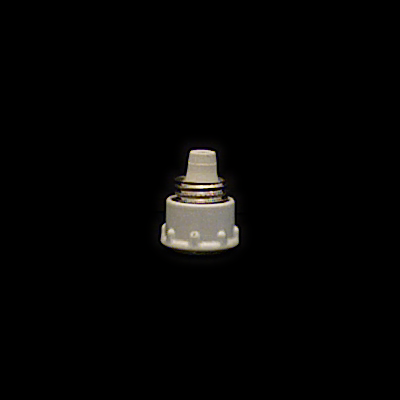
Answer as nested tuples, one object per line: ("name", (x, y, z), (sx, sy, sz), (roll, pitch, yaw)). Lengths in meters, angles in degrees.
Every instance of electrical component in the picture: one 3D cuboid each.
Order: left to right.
("electrical component", (0.000, 0.000, 0.652), (0.048, 0.062, 0.048), (2, 11, 0))
